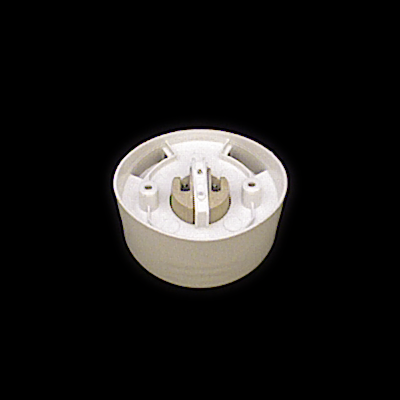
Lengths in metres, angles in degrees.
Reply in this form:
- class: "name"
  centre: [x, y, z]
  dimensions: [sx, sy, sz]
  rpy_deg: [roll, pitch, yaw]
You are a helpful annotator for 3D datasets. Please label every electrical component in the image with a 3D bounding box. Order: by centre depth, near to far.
- class: "electrical component"
  centre: [0.000, 0.000, 0.625]
  dimensions: [0.099, 0.098, 0.064]
  rpy_deg: [0, -37, -1]
